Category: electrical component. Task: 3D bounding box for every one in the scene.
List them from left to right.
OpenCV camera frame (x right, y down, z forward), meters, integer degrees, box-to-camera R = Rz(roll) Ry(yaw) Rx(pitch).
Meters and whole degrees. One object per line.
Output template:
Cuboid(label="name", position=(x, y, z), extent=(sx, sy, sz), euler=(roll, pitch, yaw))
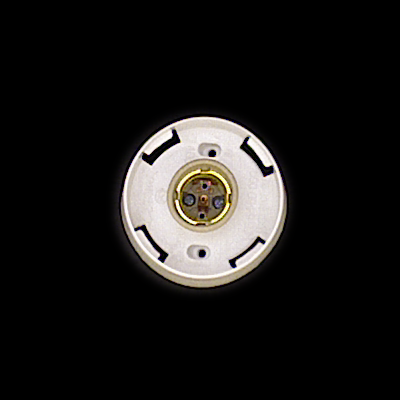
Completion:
Cuboid(label="electrical component", position=(0.000, 0.000, 0.625), extent=(0.099, 0.099, 0.064), euler=(0, -7, 1))
